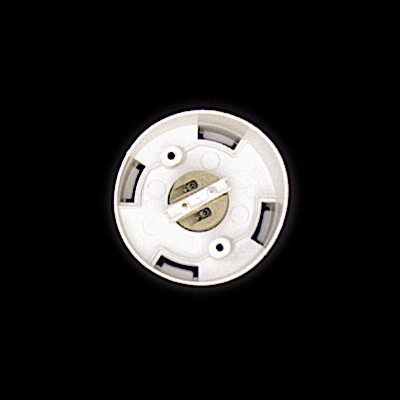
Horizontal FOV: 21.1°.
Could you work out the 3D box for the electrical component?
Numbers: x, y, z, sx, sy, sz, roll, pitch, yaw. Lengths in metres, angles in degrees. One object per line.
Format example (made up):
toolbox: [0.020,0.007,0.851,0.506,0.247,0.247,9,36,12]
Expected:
electrical component: [0.000,0.000,0.624,0.099,0.099,0.064,0,-7,-1]
